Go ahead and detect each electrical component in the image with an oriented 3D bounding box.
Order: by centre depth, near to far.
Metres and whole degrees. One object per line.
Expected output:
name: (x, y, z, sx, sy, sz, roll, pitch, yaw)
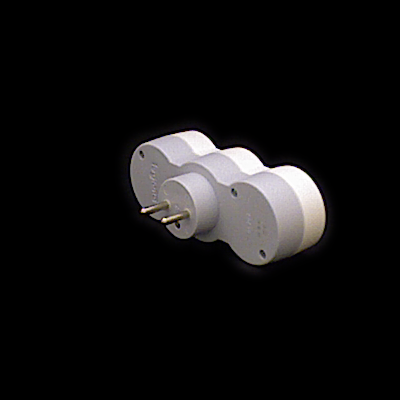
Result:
electrical component: (0.000, 0.000, 0.639, 0.073, 0.053, 0.137, -19, 29, -37)
